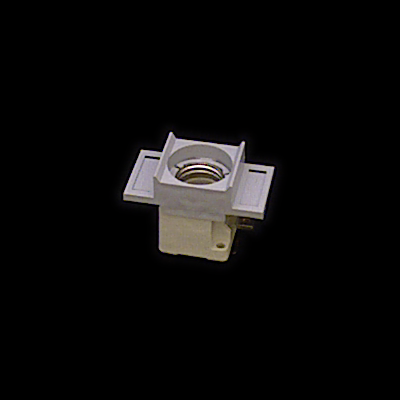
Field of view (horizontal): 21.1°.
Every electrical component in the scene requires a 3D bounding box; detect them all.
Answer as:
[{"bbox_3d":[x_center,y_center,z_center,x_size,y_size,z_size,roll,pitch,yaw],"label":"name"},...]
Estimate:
[{"bbox_3d":[0.000,0.000,0.629,0.081,0.064,0.042,8,41,9],"label":"electrical component"}]
